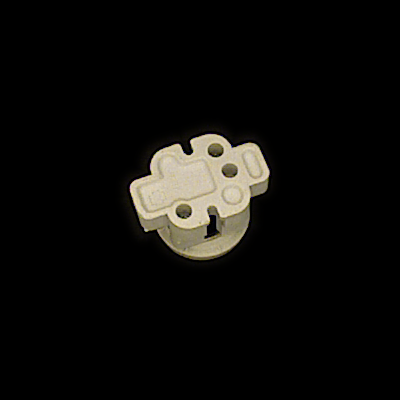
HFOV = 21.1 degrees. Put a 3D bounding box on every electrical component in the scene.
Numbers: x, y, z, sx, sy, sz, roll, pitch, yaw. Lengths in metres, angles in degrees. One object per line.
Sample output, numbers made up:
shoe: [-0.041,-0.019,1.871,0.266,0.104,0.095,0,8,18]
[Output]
electrical component: [0.000,0.000,0.635,0.079,0.058,0.056,-20,-24,-8]
